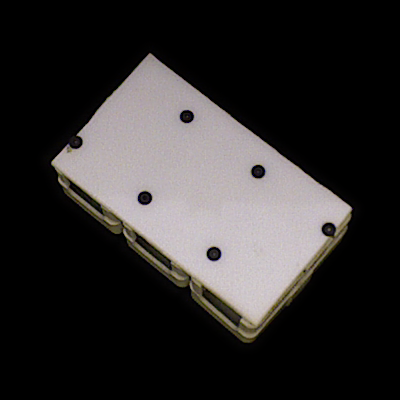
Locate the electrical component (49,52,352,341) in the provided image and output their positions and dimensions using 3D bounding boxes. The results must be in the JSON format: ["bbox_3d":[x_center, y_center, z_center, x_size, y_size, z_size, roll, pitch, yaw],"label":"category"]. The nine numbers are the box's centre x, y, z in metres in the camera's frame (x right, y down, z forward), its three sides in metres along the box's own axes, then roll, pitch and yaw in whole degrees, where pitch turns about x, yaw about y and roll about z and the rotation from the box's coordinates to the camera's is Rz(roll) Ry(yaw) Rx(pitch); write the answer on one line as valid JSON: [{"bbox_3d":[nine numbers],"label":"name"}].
[{"bbox_3d":[0.000,0.000,0.630,0.150,0.089,0.062,39,-13,10],"label":"electrical component"}]
